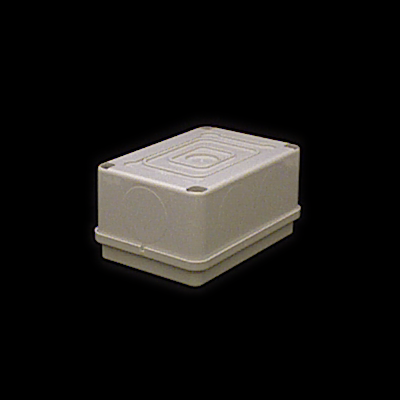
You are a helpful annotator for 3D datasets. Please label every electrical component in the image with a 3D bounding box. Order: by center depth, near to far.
[{"bbox_3d":[0.000,0.000,0.639,0.077,0.058,0.112,15,25,33],"label":"electrical component"}]
